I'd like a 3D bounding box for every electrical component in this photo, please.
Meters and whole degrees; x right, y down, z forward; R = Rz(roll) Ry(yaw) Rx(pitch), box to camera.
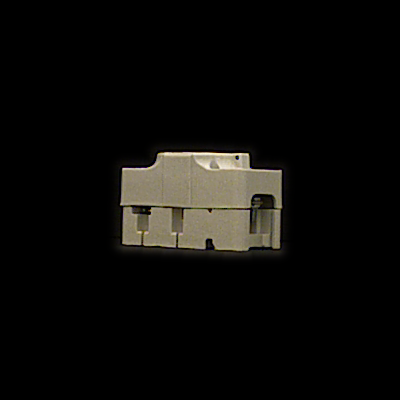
[{"bbox_3d":[0.000,0.000,0.656,0.089,0.056,0.050,2,1,34],"label":"electrical component"}]
